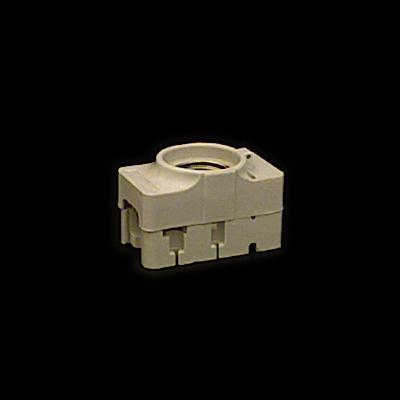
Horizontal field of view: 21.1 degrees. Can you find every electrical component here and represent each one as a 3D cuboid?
[{"bbox_3d":[0.000,0.000,0.646,0.090,0.056,0.049,-9,24,-24],"label":"electrical component"}]
